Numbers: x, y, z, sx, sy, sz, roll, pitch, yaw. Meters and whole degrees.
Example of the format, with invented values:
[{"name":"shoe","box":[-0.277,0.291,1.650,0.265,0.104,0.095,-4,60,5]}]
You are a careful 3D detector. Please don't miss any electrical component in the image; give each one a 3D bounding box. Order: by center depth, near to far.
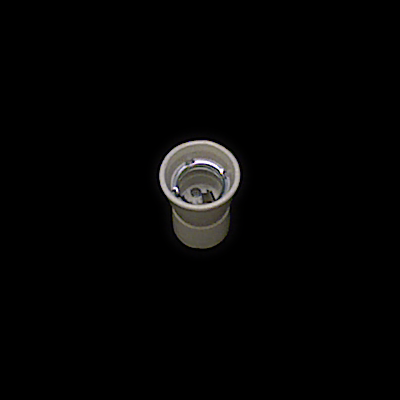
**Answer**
[{"name":"electrical component","box":[0.000,0.000,0.625,0.044,0.044,0.065,0,-28,1]}]
